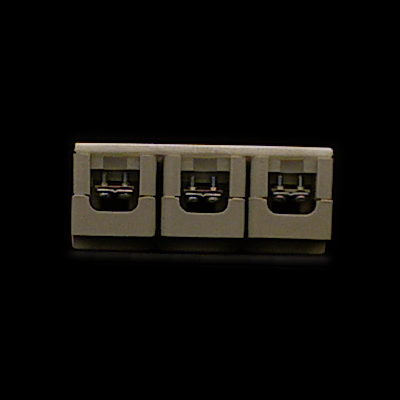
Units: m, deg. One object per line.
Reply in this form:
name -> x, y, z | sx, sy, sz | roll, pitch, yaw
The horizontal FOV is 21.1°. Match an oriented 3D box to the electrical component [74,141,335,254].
electrical component -> 0.000, 0.000, 0.659 | 0.150, 0.062, 0.089 | 2, 0, -3
